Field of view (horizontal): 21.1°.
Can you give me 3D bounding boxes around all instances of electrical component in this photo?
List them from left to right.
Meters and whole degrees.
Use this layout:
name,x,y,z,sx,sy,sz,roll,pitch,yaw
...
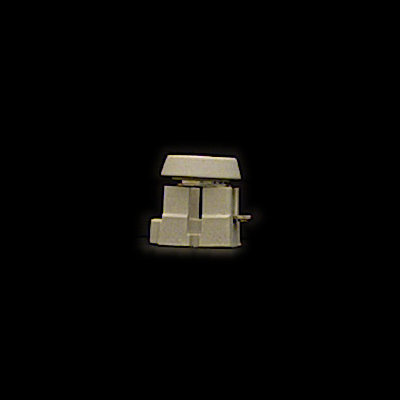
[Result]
name,x,y,z,sx,sy,sz,roll,pitch,yaw
electrical component,0.000,0.000,0.657,0.066,0.055,0.048,2,4,10
